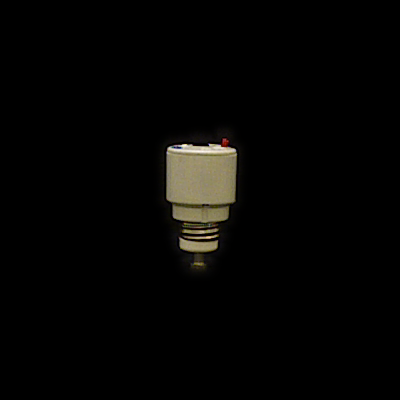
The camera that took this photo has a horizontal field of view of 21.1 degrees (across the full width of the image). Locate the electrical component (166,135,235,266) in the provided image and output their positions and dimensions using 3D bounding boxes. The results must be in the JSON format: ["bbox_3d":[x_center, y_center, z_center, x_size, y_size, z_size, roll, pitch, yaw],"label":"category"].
[{"bbox_3d":[0.000,0.000,0.642,0.040,0.079,0.040,2,11,0],"label":"electrical component"}]
